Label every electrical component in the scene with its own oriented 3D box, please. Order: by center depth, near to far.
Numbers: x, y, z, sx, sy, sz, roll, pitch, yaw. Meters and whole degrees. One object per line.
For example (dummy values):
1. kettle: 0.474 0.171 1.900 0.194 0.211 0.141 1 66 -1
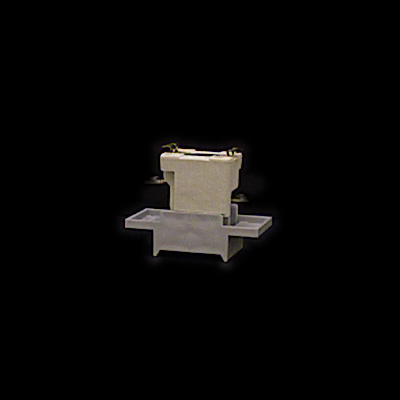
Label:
1. electrical component: 0.000 0.000 0.644 0.081 0.064 0.042 4 11 14
